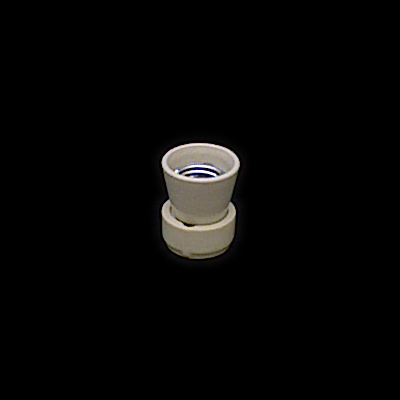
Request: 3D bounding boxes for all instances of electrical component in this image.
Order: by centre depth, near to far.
[{"bbox_3d":[0.000,0.000,0.636,0.045,0.056,0.044,1,32,-1],"label":"electrical component"}]
